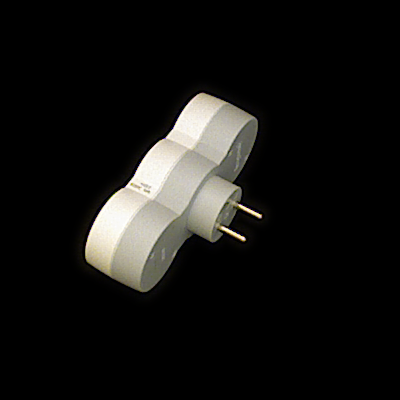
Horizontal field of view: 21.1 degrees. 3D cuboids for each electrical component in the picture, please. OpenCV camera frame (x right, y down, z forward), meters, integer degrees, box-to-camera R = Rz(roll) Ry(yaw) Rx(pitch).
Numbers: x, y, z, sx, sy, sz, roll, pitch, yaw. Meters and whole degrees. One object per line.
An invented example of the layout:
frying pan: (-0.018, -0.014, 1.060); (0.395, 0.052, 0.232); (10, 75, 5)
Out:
electrical component: (0.000, 0.000, 0.637); (0.073, 0.138, 0.052); (27, -33, 17)
